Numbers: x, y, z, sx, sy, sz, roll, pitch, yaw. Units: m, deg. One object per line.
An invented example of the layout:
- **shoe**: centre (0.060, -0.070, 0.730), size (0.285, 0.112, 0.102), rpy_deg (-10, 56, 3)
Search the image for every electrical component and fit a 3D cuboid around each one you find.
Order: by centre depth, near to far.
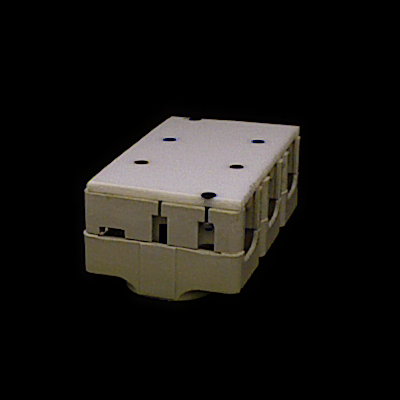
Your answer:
- **electrical component**: centre (0.000, 0.000, 0.642), size (0.089, 0.063, 0.147), rpy_deg (7, 21, 16)
